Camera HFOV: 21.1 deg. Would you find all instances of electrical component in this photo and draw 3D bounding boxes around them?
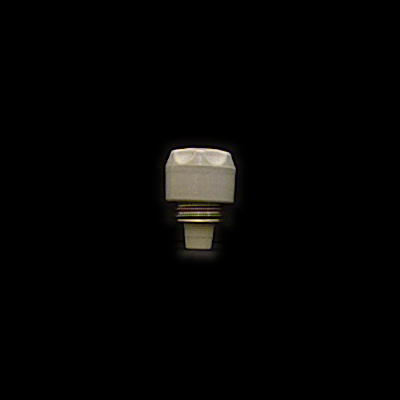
[{"bbox_3d":[0.000,0.000,0.657,0.043,0.062,0.043,2,1,0],"label":"electrical component"}]
